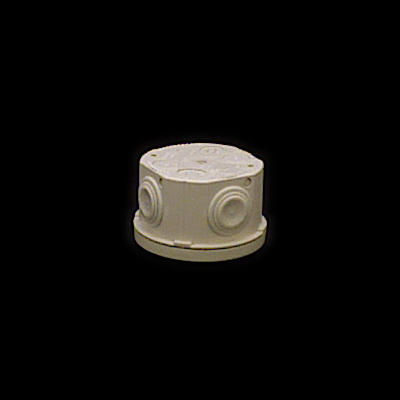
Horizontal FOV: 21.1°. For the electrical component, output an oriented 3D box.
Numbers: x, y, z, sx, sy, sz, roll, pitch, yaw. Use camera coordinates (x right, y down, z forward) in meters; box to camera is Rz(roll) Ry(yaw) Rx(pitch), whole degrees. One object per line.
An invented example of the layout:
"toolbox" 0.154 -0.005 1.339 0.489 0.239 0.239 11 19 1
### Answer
"electrical component" 0.000 0.000 0.641 0.080 0.051 0.079 2 21 0
